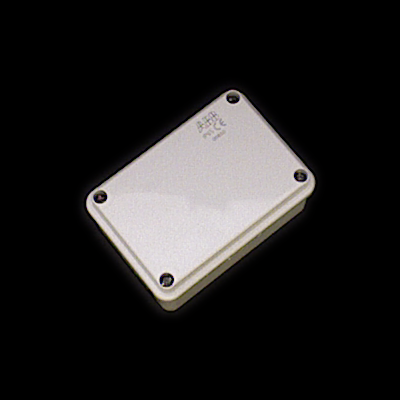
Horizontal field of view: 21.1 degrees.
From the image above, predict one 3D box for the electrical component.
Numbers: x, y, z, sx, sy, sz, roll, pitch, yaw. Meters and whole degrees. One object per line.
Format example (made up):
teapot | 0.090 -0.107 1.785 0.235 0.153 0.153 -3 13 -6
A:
electrical component | 0.000 0.000 0.627 0.113 0.078 0.057 -38 -13 -10
